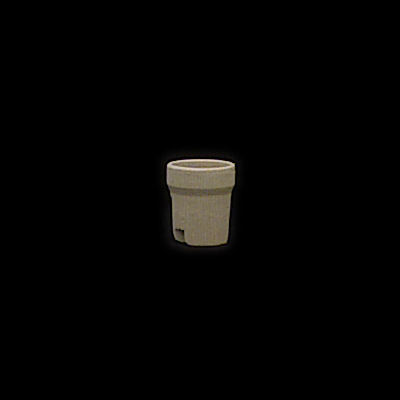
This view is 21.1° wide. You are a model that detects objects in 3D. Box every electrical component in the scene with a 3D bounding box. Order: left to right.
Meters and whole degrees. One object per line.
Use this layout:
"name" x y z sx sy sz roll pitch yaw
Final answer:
"electrical component" 0.000 0.000 0.644 0.040 0.046 0.040 1 11 0
